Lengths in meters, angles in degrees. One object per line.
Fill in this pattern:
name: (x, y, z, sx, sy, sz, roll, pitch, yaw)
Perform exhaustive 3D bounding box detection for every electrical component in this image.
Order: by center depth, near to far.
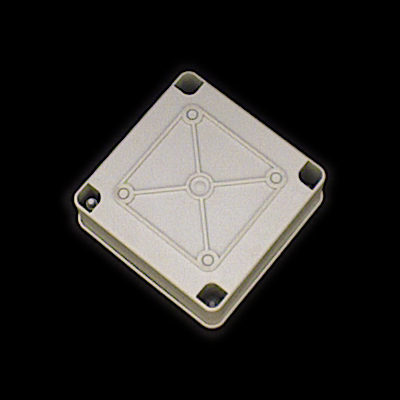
electrical component: (0.000, 0.000, 0.627, 0.109, 0.109, 0.056, 38, -13, 11)
